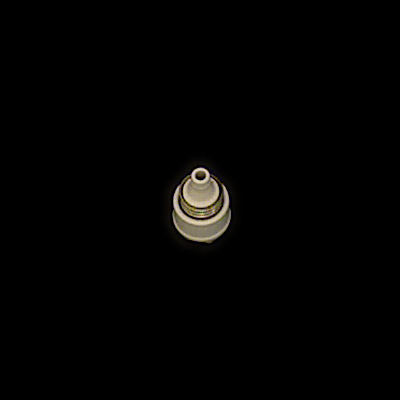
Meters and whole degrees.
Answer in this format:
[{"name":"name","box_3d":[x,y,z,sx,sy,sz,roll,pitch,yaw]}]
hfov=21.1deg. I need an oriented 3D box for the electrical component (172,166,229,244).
[{"name":"electrical component","box_3d":[0.000,0.000,0.637,0.035,0.035,0.061,0,-28,0]}]
